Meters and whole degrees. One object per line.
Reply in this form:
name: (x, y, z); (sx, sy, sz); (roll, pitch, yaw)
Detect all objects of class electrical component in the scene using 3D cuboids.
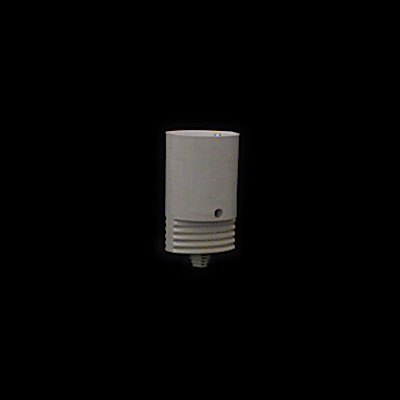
electrical component: (0.000, 0.000, 0.645); (0.043, 0.082, 0.042); (2, 11, 0)
